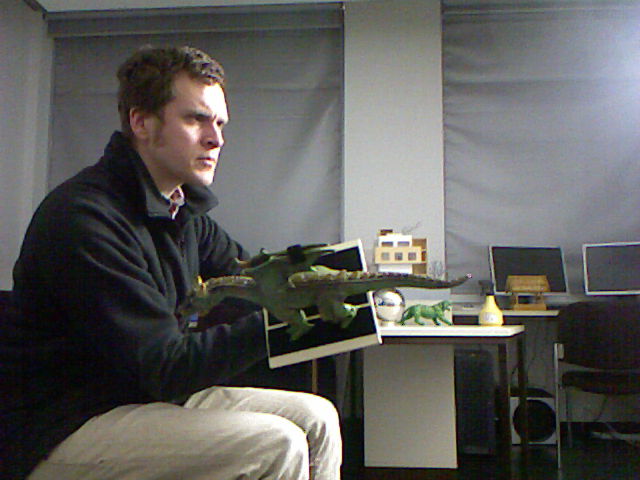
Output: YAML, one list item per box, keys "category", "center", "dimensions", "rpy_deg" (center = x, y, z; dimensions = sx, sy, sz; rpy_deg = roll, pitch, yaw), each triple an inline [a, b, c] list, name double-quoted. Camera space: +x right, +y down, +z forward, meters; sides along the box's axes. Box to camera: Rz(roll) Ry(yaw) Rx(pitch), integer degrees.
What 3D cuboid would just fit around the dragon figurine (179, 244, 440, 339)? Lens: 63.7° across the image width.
- category: "dragon figurine"
  center: [-0.023, 0.068, 0.819]
  dimensions: [0.411, 0.125, 0.240]
  rpy_deg: [-14, -23, 10]
